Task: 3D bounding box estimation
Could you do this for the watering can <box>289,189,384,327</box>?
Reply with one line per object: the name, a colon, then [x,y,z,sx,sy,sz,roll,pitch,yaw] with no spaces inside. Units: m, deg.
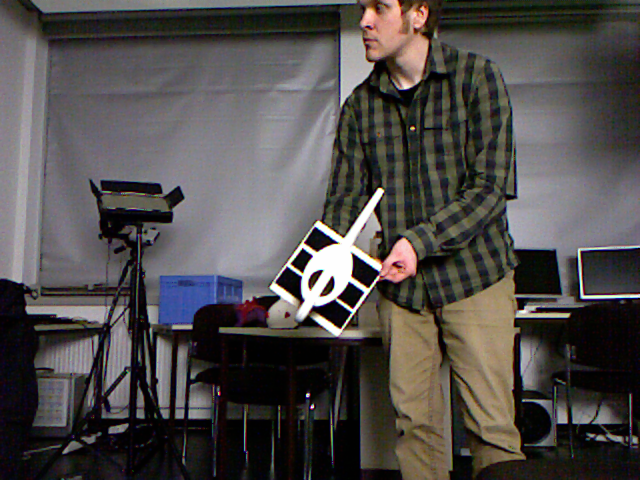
watering can: [0.035,0.042,1.162,0.104,0.349,0.224,34,-3,-2]
